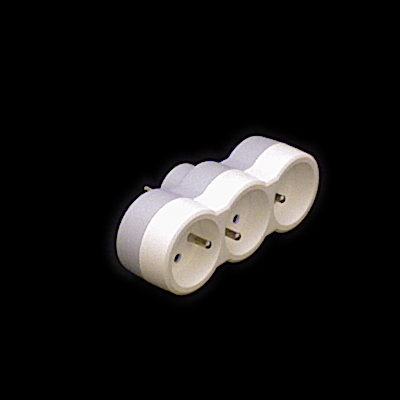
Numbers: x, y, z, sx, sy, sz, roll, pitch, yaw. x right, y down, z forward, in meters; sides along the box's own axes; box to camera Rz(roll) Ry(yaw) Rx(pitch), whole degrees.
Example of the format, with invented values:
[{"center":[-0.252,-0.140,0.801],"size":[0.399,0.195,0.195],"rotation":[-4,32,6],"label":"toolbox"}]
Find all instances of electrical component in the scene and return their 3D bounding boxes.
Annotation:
[{"center":[0.000,0.000,0.634],"size":[0.073,0.053,0.138],"rotation":[24,39,36],"label":"electrical component"}]
